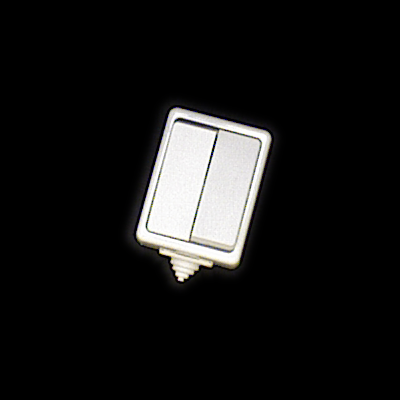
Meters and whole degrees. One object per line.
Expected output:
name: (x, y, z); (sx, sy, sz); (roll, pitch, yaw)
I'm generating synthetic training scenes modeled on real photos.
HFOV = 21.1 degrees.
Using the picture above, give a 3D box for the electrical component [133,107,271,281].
electrical component: (0.000, 0.000, 0.626); (0.062, 0.096, 0.061); (15, -7, 2)
